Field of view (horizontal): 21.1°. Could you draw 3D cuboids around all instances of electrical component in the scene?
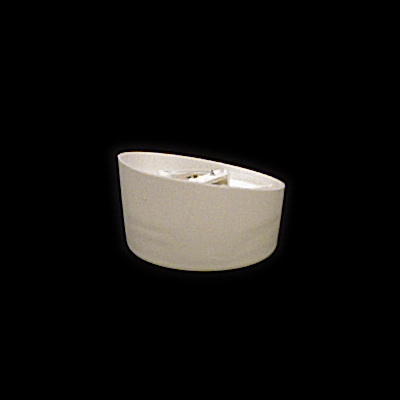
[{"bbox_3d":[0.000,0.000,0.636,0.099,0.065,0.097,1,21,0],"label":"electrical component"}]
